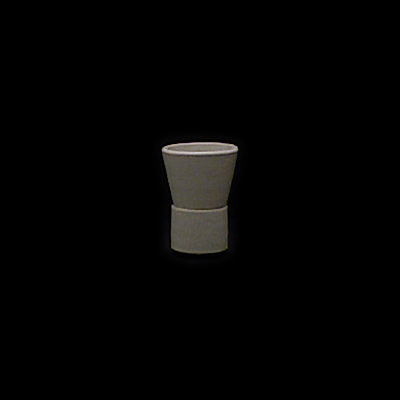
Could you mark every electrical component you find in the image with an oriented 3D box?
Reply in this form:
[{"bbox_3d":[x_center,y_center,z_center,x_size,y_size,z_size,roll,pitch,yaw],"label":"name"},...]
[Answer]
[{"bbox_3d":[0.000,0.000,0.642,0.044,0.066,0.044,1,12,0],"label":"electrical component"}]
